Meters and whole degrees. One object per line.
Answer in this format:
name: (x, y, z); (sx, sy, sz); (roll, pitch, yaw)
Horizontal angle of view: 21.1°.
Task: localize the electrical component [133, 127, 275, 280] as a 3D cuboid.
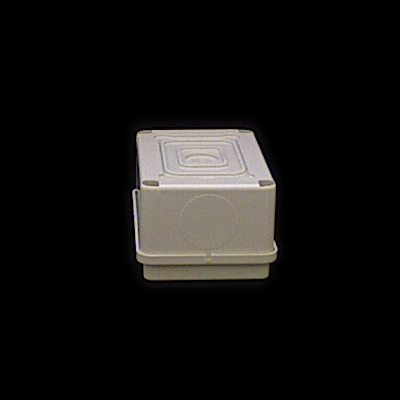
electrical component: (0.000, 0.000, 0.639); (0.078, 0.058, 0.111); (0, 21, -5)
